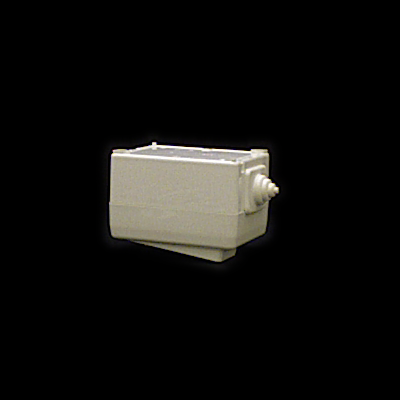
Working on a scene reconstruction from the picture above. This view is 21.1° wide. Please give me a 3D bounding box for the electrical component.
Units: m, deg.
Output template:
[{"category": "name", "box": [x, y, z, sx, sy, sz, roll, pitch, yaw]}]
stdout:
[{"category": "electrical component", "box": [0.000, 0.000, 0.643, 0.096, 0.061, 0.061, 5, 11, 22]}]
